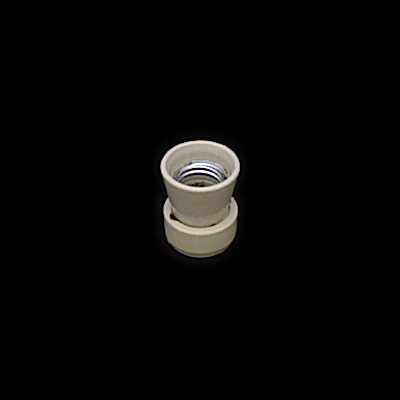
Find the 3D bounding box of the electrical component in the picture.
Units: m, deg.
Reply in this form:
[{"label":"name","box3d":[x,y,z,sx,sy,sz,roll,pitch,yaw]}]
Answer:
[{"label":"electrical component","box3d":[0.000,0.000,0.632,0.045,0.055,0.044,1,41,0]}]
